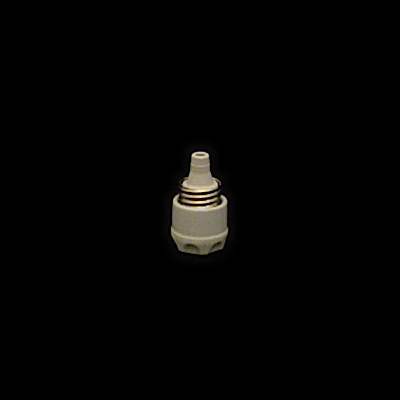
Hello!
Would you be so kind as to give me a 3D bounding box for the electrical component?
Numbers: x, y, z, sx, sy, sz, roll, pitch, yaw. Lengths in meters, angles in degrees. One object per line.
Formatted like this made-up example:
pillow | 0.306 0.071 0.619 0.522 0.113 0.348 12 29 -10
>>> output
electrical component | 0.000 0.000 0.653 0.035 0.062 0.034 0 24 0
